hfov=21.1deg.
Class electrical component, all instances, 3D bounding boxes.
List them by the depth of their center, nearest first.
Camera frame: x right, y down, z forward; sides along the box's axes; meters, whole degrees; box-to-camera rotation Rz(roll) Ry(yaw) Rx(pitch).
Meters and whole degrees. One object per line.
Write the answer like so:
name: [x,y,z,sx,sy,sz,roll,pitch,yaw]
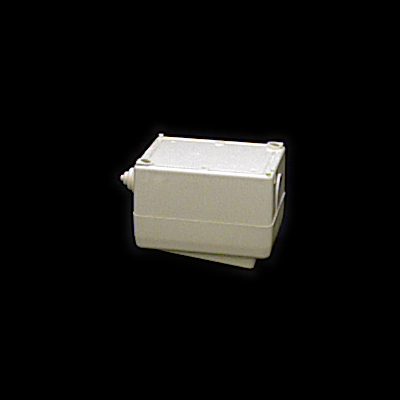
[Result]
electrical component: [0.000,0.000,0.638,0.096,0.061,0.061,5,22,10]
